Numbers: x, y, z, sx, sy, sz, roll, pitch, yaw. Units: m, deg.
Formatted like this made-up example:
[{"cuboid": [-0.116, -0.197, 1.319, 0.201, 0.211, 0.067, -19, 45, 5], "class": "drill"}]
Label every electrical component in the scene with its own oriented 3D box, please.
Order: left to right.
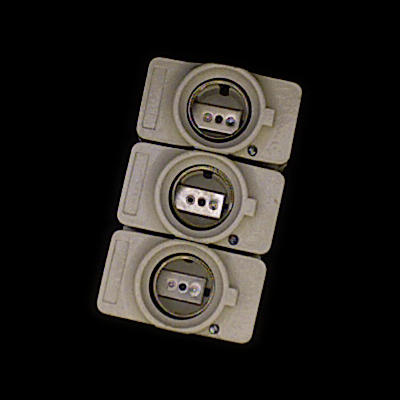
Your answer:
[{"cuboid": [0.000, 0.000, 0.632, 0.089, 0.150, 0.061, 12, -5, 1], "class": "electrical component"}]
